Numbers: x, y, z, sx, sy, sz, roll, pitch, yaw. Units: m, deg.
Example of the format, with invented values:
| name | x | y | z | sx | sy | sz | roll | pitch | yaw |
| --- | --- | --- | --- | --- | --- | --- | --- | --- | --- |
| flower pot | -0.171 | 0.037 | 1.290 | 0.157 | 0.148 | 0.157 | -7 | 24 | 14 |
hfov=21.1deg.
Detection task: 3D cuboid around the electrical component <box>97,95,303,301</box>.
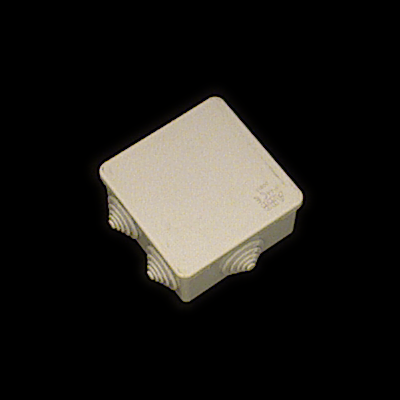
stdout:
| name | x | y | z | sx | sy | sz | roll | pitch | yaw |
| --- | --- | --- | --- | --- | --- | --- | --- | --- | --- |
| electrical component | 0.000 | 0.000 | 0.640 | 0.100 | 0.099 | 0.048 | -33 | -22 | -15 |
